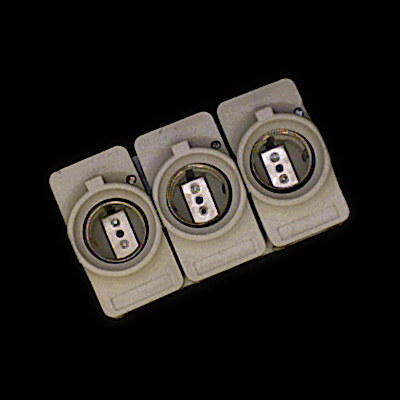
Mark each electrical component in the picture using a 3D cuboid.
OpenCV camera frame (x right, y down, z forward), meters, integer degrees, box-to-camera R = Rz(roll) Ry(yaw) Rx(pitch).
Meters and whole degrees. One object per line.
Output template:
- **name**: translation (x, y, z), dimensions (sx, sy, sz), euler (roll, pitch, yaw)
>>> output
- **electrical component**: translation (0.000, 0.000, 0.632), dimensions (0.150, 0.089, 0.061), euler (-23, -6, -3)
